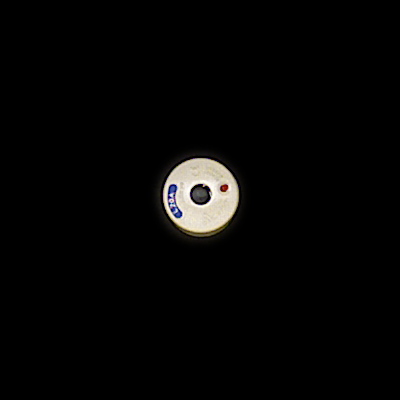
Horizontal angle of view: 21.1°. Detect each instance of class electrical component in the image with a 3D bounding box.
[{"bbox_3d":[0.000,0.000,0.617,0.040,0.040,0.078,0,-6,0],"label":"electrical component"}]
